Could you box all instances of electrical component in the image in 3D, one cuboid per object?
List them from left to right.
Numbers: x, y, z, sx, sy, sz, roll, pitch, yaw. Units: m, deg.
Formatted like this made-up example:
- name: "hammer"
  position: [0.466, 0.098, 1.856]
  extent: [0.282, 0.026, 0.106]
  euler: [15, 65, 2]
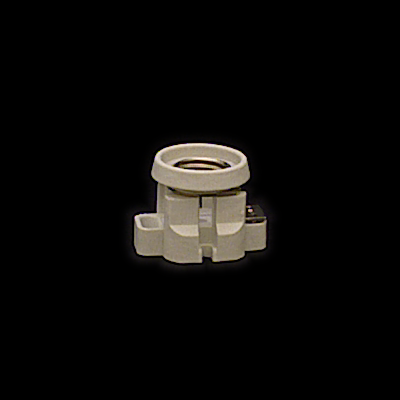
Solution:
- name: "electrical component"
  position: [0.000, 0.000, 0.640]
  extent: [0.078, 0.057, 0.057]
  euler: [-3, 21, -10]
